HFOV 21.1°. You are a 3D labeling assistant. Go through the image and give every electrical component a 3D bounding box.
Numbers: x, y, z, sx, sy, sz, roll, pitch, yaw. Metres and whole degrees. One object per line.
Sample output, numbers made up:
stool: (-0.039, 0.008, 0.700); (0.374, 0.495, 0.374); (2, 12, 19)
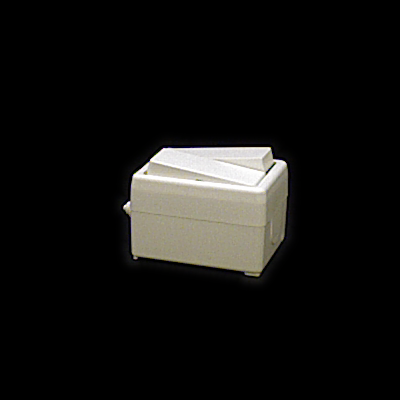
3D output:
electrical component: (0.000, 0.000, 0.640); (0.096, 0.061, 0.061); (7, 22, 16)
